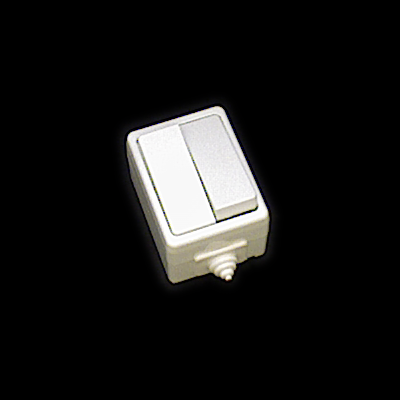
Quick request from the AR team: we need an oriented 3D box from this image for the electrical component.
[{"bbox_3d":[0.000,0.000,0.625,0.062,0.096,0.060,-17,-26,-9],"label":"electrical component"}]
